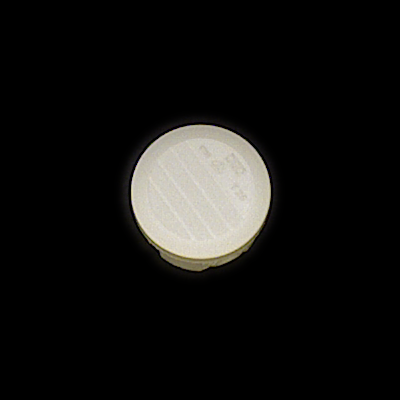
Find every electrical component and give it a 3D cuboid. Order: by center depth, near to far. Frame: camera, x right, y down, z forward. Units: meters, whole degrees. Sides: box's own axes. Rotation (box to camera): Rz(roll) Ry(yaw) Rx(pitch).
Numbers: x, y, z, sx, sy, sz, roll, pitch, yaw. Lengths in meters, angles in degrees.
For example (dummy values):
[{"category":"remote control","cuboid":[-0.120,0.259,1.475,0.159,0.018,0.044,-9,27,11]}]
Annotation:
[{"category":"electrical component","cuboid":[0.000,0.000,0.629,0.080,0.080,0.050,0,-17,0]}]
